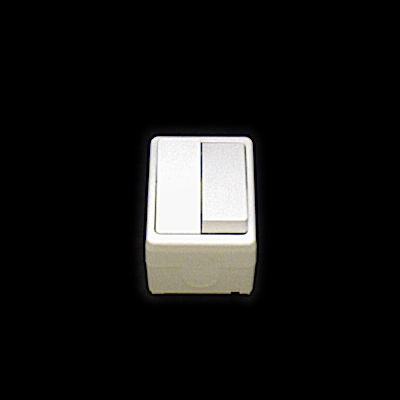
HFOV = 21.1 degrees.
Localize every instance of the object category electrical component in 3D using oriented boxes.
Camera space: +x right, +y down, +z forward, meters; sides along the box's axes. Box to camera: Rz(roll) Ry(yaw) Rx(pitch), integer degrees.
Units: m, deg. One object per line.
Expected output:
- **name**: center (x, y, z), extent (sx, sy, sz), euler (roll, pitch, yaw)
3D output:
- **electrical component**: center (0.000, 0.000, 0.630), extent (0.062, 0.096, 0.061), euler (1, -38, 0)
